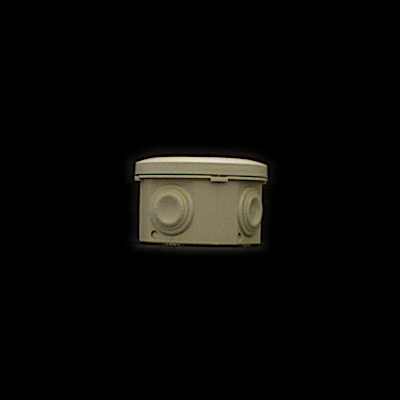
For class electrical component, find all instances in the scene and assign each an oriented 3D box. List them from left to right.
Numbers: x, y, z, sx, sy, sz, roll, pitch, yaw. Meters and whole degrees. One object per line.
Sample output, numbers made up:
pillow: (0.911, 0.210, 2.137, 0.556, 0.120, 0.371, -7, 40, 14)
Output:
electrical component: (0.000, 0.000, 0.650, 0.080, 0.051, 0.080, 1, 0, 0)
